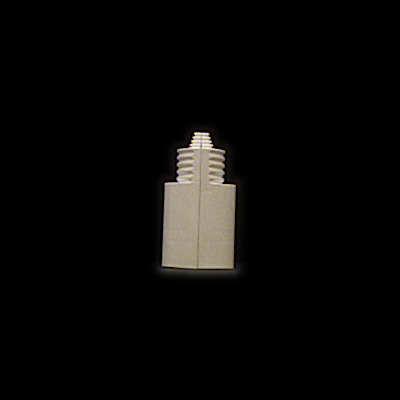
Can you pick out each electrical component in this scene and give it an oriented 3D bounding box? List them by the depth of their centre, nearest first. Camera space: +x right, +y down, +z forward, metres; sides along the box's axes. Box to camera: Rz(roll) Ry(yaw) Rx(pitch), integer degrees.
[{"bbox_3d":[0.000,0.000,0.649,0.043,0.081,0.043,1,1,0],"label":"electrical component"}]
